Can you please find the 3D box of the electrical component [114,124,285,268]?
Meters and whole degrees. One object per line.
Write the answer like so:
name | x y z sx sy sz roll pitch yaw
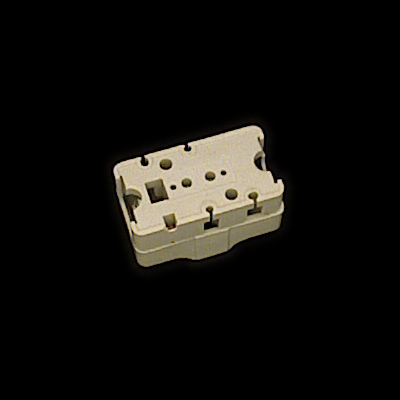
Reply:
electrical component | 0.000 0.000 0.636 0.090 0.050 0.055 -16 -25 -8
